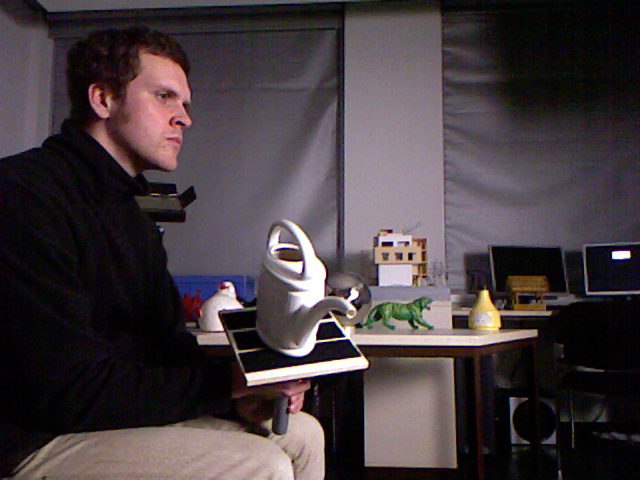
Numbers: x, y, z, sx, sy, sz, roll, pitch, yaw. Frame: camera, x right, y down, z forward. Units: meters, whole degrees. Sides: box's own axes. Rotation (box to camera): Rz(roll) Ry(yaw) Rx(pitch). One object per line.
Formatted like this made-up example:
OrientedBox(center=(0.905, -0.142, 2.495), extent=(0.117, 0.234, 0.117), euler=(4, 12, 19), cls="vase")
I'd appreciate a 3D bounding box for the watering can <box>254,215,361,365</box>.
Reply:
OrientedBox(center=(-0.034, 0.098, 0.806), extent=(0.104, 0.221, 0.354), euler=(-4, 26, -22), cls="watering can")
